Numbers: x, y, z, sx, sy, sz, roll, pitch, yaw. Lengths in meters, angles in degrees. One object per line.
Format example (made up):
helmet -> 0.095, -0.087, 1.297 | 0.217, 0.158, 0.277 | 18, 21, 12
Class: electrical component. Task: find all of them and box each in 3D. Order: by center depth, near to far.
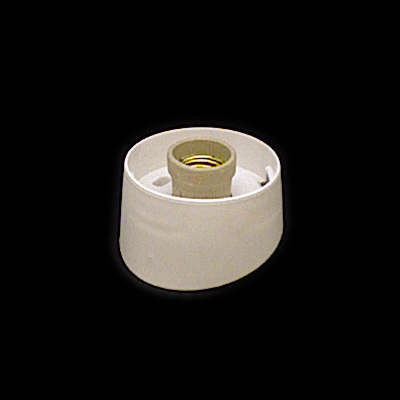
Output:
electrical component -> 0.000, 0.000, 0.634 | 0.099, 0.065, 0.097 | 1, 32, 0
